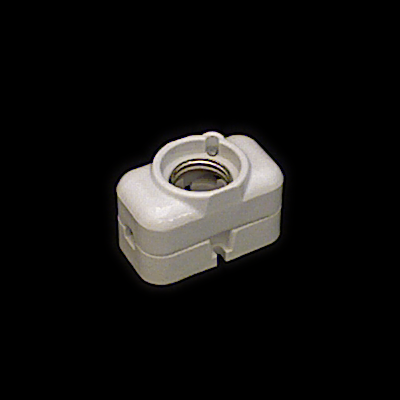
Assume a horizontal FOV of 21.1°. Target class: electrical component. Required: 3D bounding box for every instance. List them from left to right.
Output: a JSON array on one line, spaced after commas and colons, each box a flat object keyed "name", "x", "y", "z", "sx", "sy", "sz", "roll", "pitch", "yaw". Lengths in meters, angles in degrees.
[{"name": "electrical component", "x": 0.000, "y": 0.000, "z": 0.639, "sx": 0.095, "sy": 0.060, "sz": 0.053, "roll": -21, "pitch": 47, "yaw": -22}]
